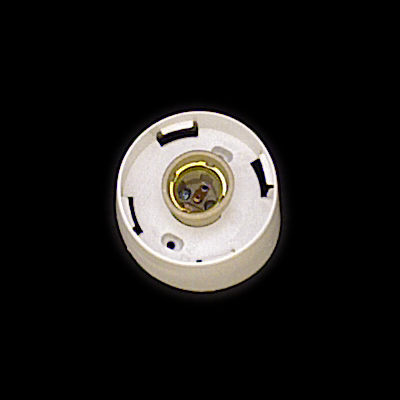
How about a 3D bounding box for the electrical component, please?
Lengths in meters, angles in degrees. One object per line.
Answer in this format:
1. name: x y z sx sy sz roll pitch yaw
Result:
1. electrical component: 0.000 0.000 0.624 0.099 0.099 0.064 0 -17 -1
